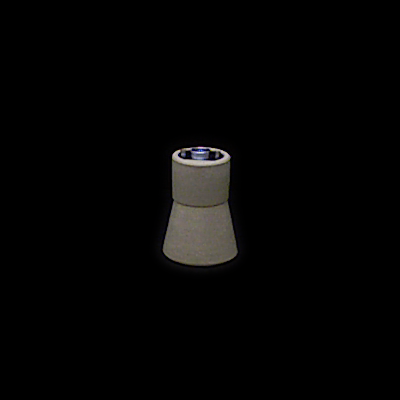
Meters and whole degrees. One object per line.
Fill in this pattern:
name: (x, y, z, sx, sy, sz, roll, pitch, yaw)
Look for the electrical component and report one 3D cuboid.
electrical component: (0.000, 0.000, 0.639, 0.044, 0.066, 0.044, 1, 20, 0)
